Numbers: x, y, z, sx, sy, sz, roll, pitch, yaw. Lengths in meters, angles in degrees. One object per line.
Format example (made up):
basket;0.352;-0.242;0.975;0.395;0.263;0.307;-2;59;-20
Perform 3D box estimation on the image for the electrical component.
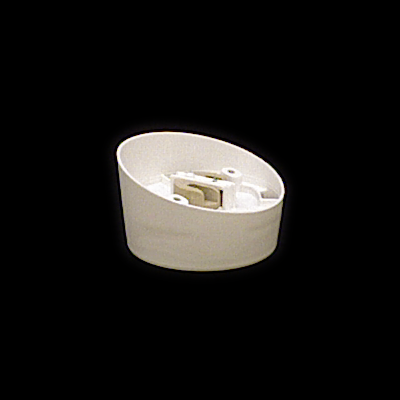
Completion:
electrical component;0.000;0.000;0.637;0.099;0.065;0.097;0;21;0
